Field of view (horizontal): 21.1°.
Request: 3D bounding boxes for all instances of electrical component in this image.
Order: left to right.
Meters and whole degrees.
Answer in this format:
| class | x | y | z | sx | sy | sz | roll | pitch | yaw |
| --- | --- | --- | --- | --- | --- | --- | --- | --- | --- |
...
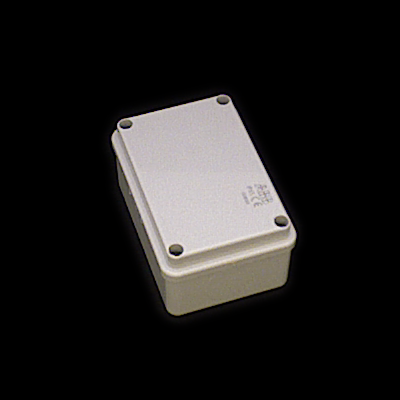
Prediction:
| class | x | y | z | sx | sy | sz | roll | pitch | yaw |
| --- | --- | --- | --- | --- | --- | --- | --- | --- | --- |
| electrical component | 0.000 | 0.000 | 0.629 | 0.078 | 0.112 | 0.057 | -15 | -36 | -12 |
